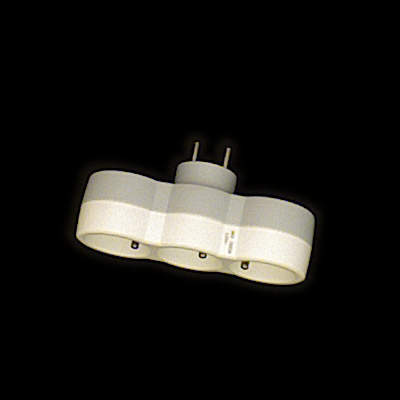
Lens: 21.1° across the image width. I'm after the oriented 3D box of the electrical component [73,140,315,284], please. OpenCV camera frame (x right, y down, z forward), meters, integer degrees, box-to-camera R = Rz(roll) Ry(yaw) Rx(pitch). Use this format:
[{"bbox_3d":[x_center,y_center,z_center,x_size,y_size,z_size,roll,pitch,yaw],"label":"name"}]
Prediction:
[{"bbox_3d":[0.000,0.000,0.639,0.138,0.074,0.052,10,-17,3],"label":"electrical component"}]
